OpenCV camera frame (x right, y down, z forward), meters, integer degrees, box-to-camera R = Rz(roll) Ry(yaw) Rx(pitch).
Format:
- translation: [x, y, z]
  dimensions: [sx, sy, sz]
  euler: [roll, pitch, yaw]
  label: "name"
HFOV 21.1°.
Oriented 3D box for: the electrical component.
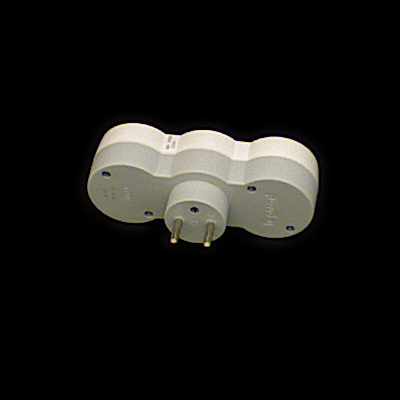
- translation: [0.000, 0.000, 0.639]
  dimensions: [0.138, 0.052, 0.073]
  euler: [6, 44, 5]
  label: "electrical component"
